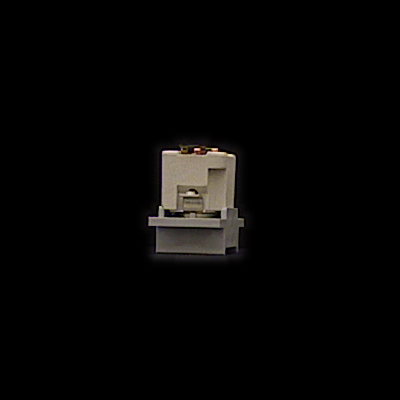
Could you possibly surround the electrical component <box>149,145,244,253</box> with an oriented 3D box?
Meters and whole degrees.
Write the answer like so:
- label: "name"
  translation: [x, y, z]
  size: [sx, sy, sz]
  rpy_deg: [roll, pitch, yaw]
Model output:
- label: "electrical component"
  translation: [0.000, 0.000, 0.649]
  size: [0.042, 0.064, 0.081]
  rpy_deg: [2, 0, 11]
